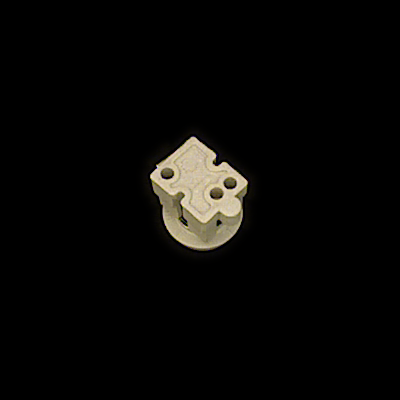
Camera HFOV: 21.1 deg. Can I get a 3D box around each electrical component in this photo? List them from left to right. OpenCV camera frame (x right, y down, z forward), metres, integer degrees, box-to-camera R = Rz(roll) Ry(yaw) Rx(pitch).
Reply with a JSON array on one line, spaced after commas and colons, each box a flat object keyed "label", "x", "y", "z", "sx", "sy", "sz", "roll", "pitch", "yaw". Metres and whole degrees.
[{"label": "electrical component", "x": 0.000, "y": 0.000, "z": 0.637, "sx": 0.066, "sy": 0.048, "sz": 0.055, "roll": 41, "pitch": -18, "yaw": 19}]
